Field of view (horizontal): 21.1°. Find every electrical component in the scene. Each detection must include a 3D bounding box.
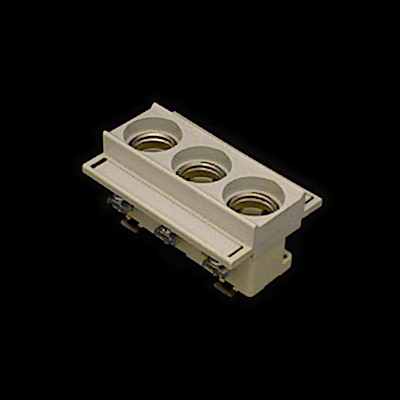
[{"bbox_3d":[0.000,0.000,0.644,0.120,0.064,0.078,33,50,30],"label":"electrical component"}]
